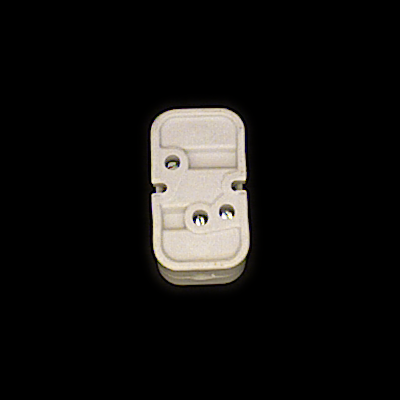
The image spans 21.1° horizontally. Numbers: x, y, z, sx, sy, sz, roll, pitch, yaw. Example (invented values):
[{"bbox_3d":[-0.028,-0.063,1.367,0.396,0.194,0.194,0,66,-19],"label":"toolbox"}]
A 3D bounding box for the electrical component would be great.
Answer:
[{"bbox_3d":[0.000,0.000,0.636,0.054,0.095,0.059,-2,-16,0],"label":"electrical component"}]
